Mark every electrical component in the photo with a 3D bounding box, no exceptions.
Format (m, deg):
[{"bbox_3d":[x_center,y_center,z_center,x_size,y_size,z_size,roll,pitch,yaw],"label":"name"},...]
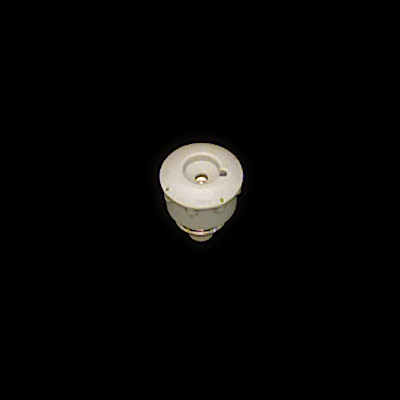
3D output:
[{"bbox_3d":[0.000,0.000,0.637,0.048,0.048,0.062,0,-37,0],"label":"electrical component"}]
